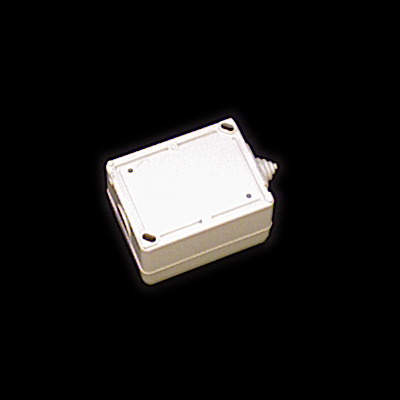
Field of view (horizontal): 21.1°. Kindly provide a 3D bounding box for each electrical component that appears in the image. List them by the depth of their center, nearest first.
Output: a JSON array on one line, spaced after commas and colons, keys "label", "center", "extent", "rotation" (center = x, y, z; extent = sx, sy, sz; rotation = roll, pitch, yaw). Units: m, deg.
[{"label": "electrical component", "center": [0.000, 0.000, 0.627], "extent": [0.096, 0.062, 0.060], "rotation": [-20, -25, -11]}]
